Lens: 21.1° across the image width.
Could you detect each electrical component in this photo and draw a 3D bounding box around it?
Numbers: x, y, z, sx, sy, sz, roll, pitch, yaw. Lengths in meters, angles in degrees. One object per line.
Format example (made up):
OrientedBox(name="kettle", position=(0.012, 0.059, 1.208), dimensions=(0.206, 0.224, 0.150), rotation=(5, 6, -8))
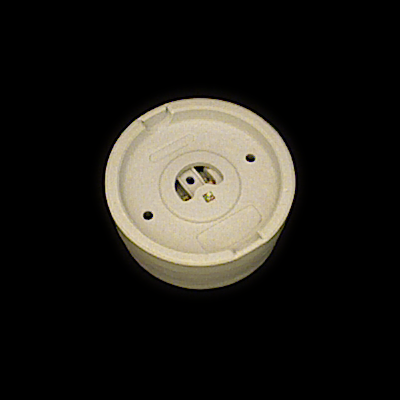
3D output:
OrientedBox(name="electrical component", position=(0.000, 0.000, 0.633), dimensions=(0.108, 0.108, 0.060), rotation=(0, -27, 0))
